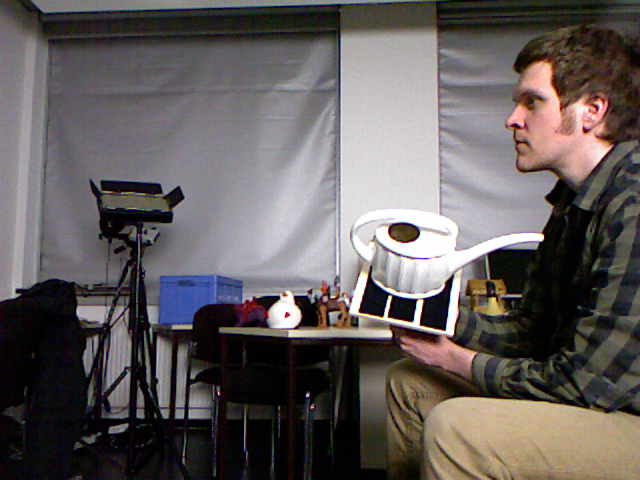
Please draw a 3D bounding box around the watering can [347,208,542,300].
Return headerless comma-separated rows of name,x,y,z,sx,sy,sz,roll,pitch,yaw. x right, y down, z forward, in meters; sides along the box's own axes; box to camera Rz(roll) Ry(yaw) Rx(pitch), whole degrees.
watering can,0.222,0.032,0.998,0.349,0.107,0.219,8,-41,7
